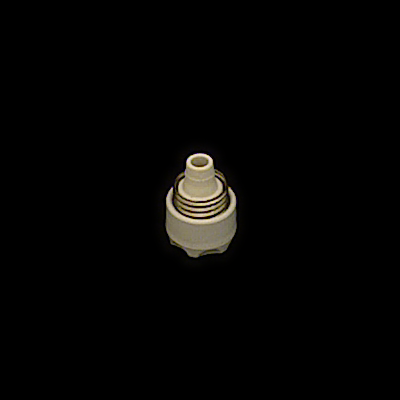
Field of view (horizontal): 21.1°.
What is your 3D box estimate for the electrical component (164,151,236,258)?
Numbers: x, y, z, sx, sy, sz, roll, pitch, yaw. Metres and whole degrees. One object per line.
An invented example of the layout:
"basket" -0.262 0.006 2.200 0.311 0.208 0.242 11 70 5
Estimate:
"electrical component" 0.000 0.000 0.638 0.043 0.062 0.043 0 41 1
